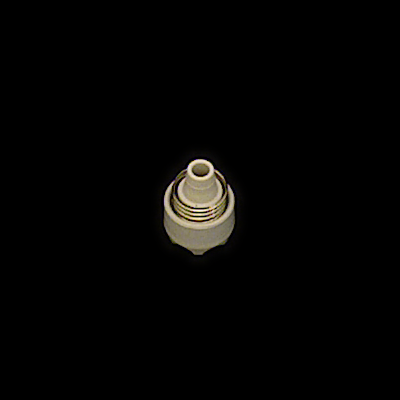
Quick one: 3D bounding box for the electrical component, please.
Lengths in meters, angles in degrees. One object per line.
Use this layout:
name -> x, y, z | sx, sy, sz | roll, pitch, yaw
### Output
electrical component -> 0.000, 0.000, 0.635 | 0.043, 0.043, 0.062 | 0, -36, -1
